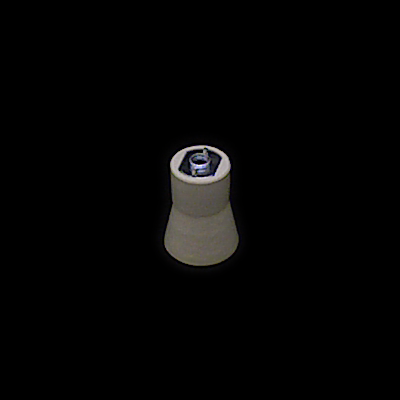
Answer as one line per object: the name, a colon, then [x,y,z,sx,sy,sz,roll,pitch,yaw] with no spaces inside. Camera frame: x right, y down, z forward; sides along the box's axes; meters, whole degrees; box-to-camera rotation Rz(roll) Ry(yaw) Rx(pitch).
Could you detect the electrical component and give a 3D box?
electrical component: [0.000,0.000,0.630,0.044,0.066,0.044,0,42,1]
